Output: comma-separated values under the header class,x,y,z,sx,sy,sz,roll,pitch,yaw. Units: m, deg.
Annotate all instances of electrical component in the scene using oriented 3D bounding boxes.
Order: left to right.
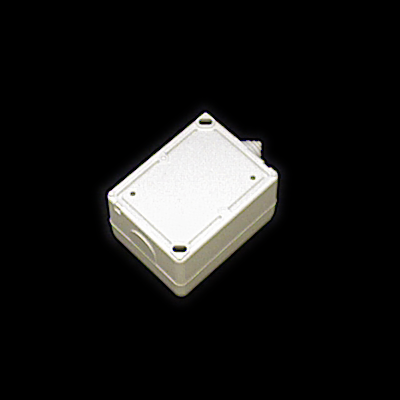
class,x,y,z,sx,sy,sz,roll,pitch,yaw
electrical component,0.001,0.000,0.629,0.096,0.061,0.061,-41,-21,-19
